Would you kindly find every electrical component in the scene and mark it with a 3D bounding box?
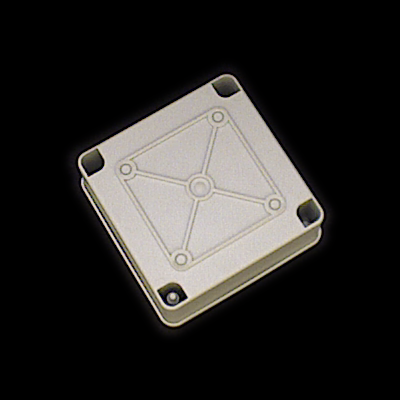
[{"bbox_3d":[0.000,0.000,0.627,0.109,0.109,0.056,-30,-15,-8],"label":"electrical component"}]
